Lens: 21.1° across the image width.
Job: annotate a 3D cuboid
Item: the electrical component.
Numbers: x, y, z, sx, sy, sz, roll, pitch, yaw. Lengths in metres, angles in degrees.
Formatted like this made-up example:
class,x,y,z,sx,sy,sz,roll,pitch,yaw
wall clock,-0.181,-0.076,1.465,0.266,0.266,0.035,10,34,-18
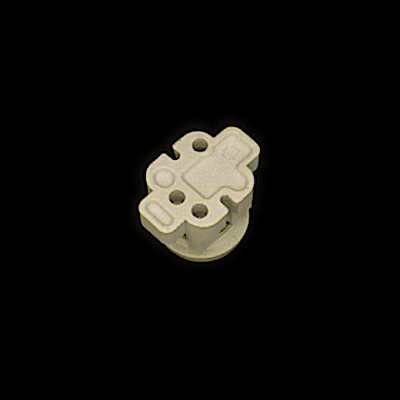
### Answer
class,x,y,z,sx,sy,sz,roll,pitch,yaw
electrical component,0.000,0.000,0.636,0.057,0.079,0.057,40,-21,19
